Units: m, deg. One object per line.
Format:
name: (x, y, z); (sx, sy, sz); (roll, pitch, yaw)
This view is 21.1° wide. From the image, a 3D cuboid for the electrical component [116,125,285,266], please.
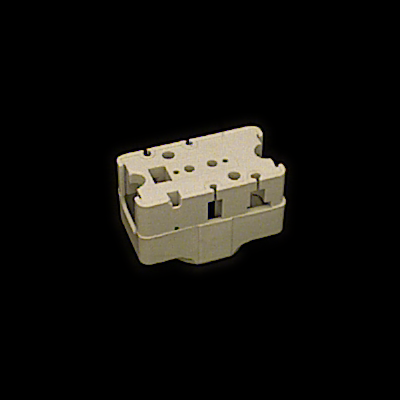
electrical component: (0.000, 0.000, 0.639); (0.090, 0.056, 0.049); (-14, 45, -15)
